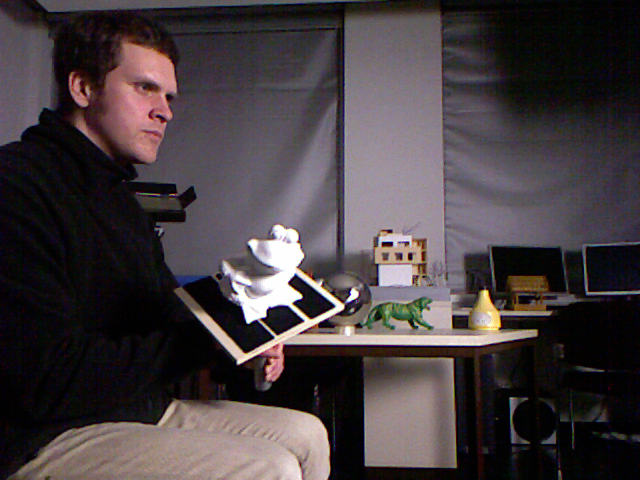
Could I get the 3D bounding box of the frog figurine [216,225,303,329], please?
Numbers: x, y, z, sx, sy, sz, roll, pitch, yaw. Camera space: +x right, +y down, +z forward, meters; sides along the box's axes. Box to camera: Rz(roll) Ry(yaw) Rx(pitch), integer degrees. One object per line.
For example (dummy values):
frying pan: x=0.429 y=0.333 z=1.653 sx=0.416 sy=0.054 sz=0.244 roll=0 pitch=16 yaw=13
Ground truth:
frog figurine: x=-0.093 y=0.037 z=0.798 sx=0.138 sy=0.156 sz=0.125 roll=-8 pitch=36 yaw=-16
